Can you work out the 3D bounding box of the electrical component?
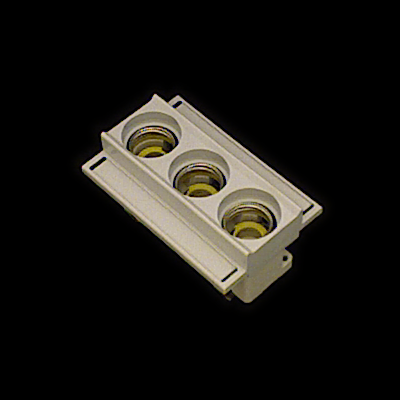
[{"bbox_3d":[0.000,0.000,0.638,0.079,0.063,0.120,-38,62,-23],"label":"electrical component"}]
